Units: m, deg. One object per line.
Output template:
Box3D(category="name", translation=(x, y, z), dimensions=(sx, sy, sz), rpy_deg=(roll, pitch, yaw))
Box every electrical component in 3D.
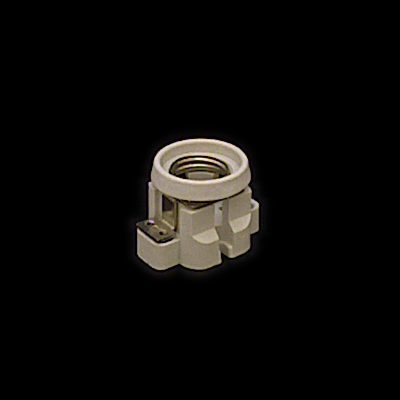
Box3D(category="electrical component", translation=(0.000, 0.000, 0.633), dimensions=(0.078, 0.057, 0.057), rpy_deg=(-21, 38, -32))
